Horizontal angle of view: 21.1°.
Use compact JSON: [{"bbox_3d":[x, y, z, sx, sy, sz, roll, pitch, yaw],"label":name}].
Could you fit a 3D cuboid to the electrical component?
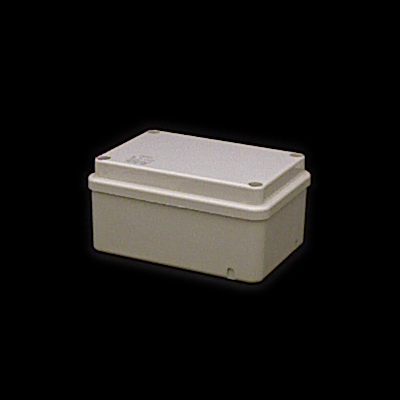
[{"bbox_3d":[0.000,0.000,0.637,0.112,0.058,0.077,11,23,23],"label":"electrical component"}]
